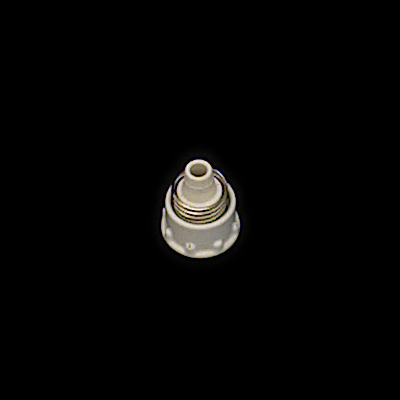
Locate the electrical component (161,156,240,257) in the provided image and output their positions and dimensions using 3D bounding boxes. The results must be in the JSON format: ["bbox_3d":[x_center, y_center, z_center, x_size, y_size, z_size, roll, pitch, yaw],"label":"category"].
[{"bbox_3d":[0.000,0.000,0.634,0.048,0.048,0.062,0,-37,1],"label":"electrical component"}]
